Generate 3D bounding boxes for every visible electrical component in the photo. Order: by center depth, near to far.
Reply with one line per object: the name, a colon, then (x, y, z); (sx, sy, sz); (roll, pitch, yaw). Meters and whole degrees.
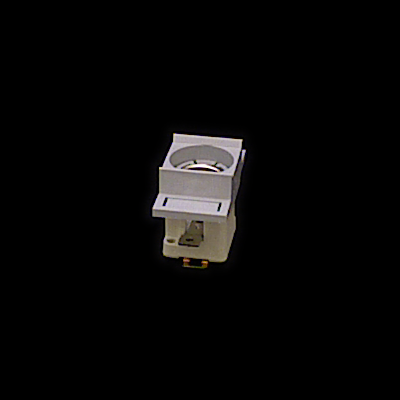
electrical component: (0.000, 0.000, 0.630); (0.042, 0.064, 0.080); (7, 31, 8)
